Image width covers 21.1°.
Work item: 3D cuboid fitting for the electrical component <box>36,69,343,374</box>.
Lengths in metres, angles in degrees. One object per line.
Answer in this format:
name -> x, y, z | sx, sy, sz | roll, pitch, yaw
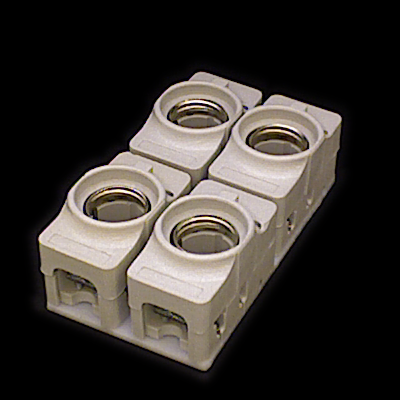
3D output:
electrical component -> 0.000, 0.000, 0.630 | 0.105, 0.061, 0.185 | 20, 45, 20
